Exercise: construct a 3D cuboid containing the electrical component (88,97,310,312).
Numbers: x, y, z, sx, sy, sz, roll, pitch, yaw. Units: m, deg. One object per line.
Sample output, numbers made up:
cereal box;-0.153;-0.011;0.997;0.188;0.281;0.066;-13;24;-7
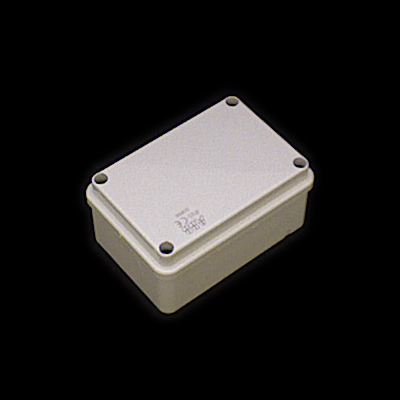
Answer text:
electrical component;0.000;0.000;0.627;0.113;0.078;0.057;-32;-31;-23
